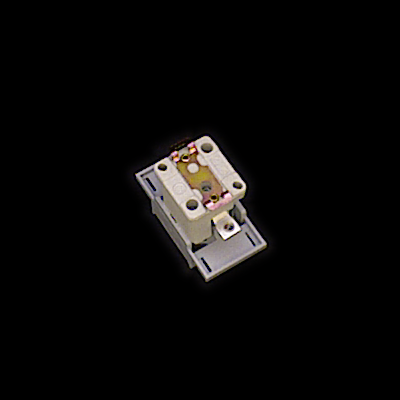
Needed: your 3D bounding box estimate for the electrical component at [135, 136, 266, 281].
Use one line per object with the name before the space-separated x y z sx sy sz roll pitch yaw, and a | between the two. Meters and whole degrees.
electrical component | 0.000 0.000 0.625 0.042 0.081 0.063 -30 -23 -14
